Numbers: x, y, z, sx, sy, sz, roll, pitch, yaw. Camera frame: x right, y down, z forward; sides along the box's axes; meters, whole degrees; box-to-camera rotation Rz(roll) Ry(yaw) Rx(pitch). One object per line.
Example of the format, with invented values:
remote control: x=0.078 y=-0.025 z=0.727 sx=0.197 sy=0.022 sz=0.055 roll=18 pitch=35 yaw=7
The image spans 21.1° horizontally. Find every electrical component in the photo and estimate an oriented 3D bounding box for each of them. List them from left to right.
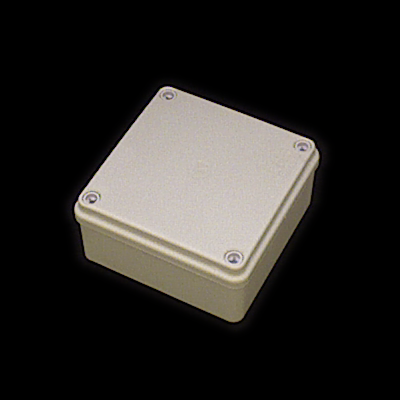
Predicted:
electrical component: x=0.000 y=0.000 z=0.630 sx=0.108 sy=0.109 sz=0.056 roll=22 pitch=-35 yaw=16
